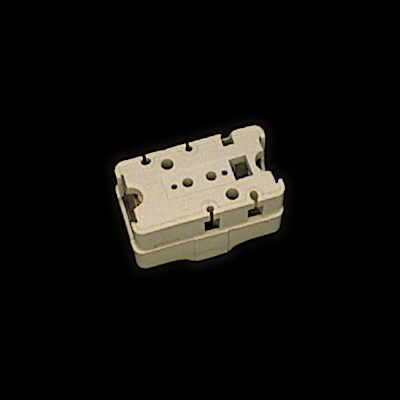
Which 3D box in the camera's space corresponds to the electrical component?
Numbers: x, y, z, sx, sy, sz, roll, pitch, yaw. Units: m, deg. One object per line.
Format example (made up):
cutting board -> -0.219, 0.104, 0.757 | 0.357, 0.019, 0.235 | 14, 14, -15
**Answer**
electrical component -> 0.000, 0.000, 0.636 | 0.090, 0.050, 0.055 | -15, -26, -8
